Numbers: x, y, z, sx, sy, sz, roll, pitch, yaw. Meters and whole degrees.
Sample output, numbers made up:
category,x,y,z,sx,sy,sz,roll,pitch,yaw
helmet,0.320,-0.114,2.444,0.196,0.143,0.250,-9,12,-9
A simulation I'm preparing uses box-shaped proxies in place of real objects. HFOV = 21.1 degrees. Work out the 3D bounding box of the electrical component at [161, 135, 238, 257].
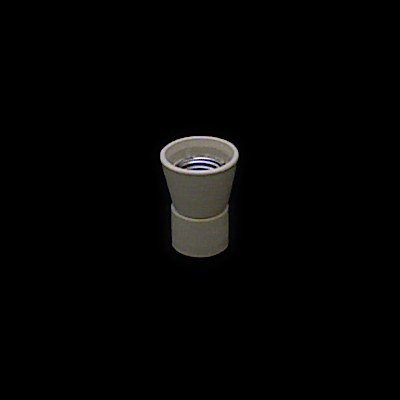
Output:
category,x,y,z,sx,sy,sz,roll,pitch,yaw
electrical component,0.000,0.000,0.632,0.044,0.066,0.044,0,32,0
